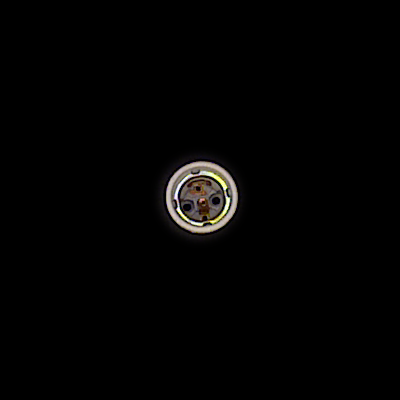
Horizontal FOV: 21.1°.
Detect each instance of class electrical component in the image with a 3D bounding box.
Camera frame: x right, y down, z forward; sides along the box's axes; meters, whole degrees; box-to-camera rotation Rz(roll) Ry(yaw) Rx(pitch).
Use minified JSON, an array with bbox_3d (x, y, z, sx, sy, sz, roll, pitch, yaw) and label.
[{"bbox_3d":[0.000,0.000,0.627,0.040,0.040,0.046,0,-6,0],"label":"electrical component"}]
